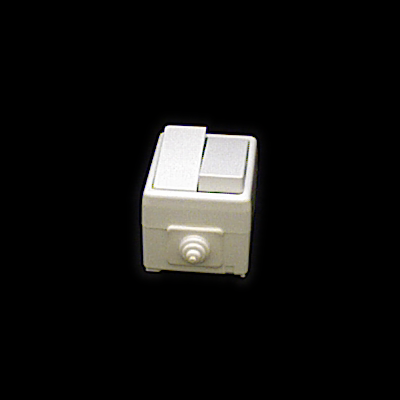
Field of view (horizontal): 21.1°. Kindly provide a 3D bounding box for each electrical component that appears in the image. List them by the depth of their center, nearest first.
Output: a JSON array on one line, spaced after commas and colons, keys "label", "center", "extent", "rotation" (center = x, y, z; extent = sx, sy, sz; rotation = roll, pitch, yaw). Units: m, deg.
[{"label": "electrical component", "center": [0.000, 0.000, 0.632], "extent": [0.062, 0.061, 0.095], "rotation": [4, 31, 5]}]
